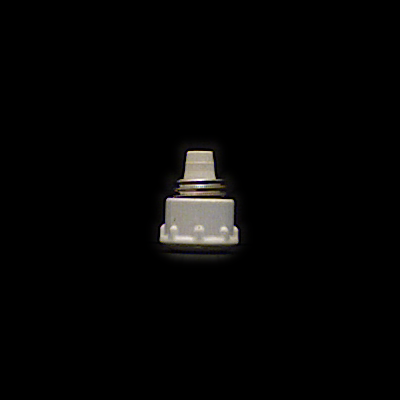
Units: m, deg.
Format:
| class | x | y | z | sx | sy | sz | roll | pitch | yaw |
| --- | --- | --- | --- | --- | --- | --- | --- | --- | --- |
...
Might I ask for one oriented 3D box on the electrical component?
| class | x | y | z | sx | sy | sz | roll | pitch | yaw |
| --- | --- | --- | --- | --- | --- | --- | --- | --- | --- |
| electrical component | 0.000 | 0.000 | 0.654 | 0.048 | 0.062 | 0.048 | 0 | 2 | 0 |
